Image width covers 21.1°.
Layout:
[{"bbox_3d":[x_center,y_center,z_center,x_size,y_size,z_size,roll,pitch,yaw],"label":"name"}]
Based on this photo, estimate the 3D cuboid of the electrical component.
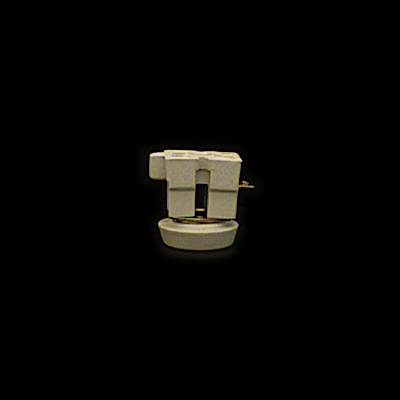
[{"bbox_3d":[0.000,0.000,0.650,0.066,0.056,0.048,1,11,-5],"label":"electrical component"}]
